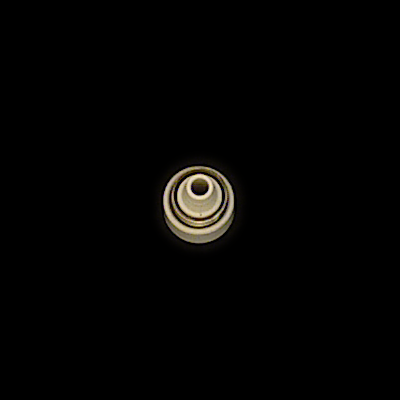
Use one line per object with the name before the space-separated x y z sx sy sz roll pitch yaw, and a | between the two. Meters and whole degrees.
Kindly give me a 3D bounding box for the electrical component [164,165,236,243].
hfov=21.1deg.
electrical component | 0.000 0.000 0.633 0.043 0.043 0.061 0 -15 -1
